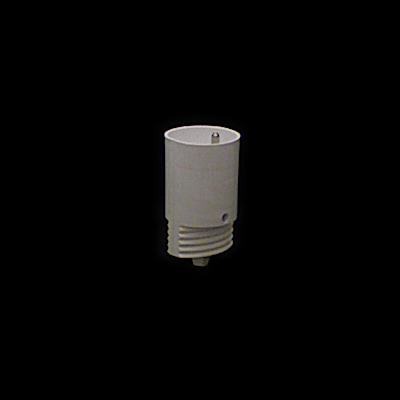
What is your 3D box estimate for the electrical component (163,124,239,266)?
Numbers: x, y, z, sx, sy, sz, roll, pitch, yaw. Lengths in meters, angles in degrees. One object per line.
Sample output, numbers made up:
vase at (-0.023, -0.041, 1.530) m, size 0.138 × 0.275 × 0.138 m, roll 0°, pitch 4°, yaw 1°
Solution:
electrical component at (0.000, 0.000, 0.637) m, size 0.043 × 0.082 × 0.042 m, roll 2°, pitch 21°, yaw 0°
